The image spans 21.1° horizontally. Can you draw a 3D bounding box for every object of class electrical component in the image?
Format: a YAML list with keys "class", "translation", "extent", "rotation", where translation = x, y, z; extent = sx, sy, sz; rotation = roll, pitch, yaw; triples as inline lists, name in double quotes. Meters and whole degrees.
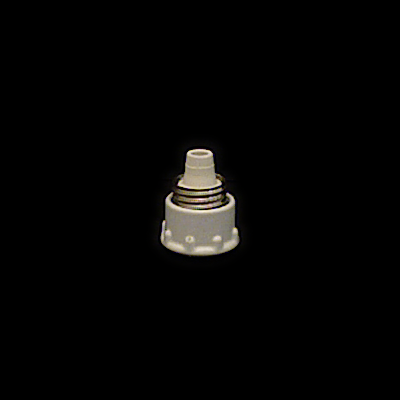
- class: "electrical component"
  translation: [0.000, 0.000, 0.646]
  extent: [0.048, 0.063, 0.047]
  rotation: [1, 21, 0]
